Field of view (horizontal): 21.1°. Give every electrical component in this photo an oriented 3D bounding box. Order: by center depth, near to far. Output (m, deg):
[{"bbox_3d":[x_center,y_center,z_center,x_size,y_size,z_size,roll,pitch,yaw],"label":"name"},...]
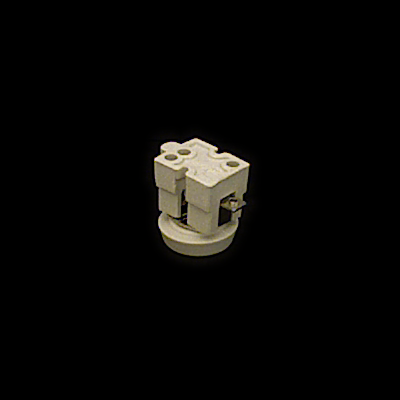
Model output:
[{"bbox_3d":[0.000,0.000,0.643,0.065,0.056,0.048,27,40,33],"label":"electrical component"}]
